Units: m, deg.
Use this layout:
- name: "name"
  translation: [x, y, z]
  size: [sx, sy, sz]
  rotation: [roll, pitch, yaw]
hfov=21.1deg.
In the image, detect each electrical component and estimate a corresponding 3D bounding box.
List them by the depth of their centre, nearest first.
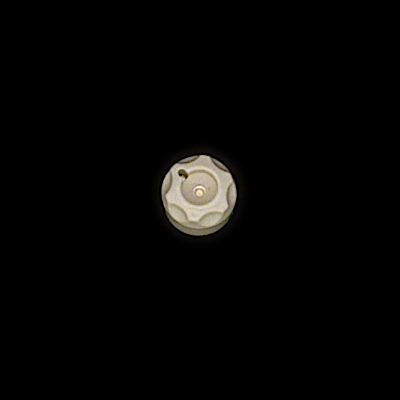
- name: "electrical component"
  translation: [0.000, 0.000, 0.634]
  size: [0.043, 0.043, 0.061]
  rotation: [0, -16, 0]
